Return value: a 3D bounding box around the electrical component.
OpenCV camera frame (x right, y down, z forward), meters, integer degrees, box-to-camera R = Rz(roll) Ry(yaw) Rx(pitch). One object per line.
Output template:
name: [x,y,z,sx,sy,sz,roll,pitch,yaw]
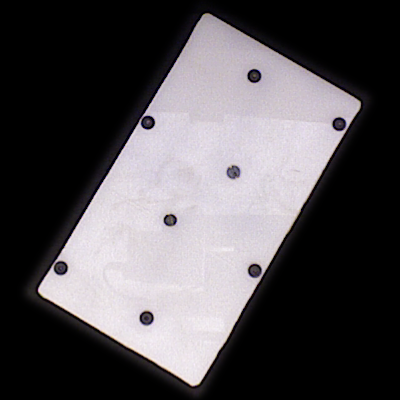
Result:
electrical component: [0.000,0.000,0.625,0.105,0.187,0.060,30,-6,3]
